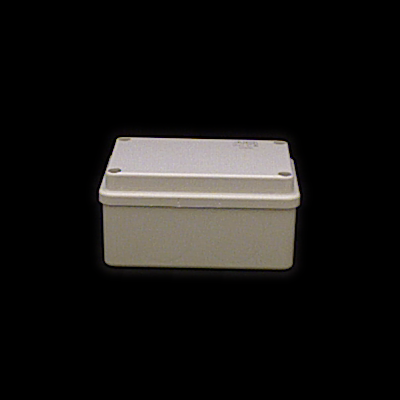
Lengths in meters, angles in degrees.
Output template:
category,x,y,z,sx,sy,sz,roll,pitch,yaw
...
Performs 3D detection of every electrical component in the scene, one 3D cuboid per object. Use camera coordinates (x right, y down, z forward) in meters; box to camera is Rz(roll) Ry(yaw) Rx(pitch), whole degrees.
category,x,y,z,sx,sy,sz,roll,pitch,yaw
electrical component,0.000,0.000,0.641,0.113,0.058,0.077,1,21,1
